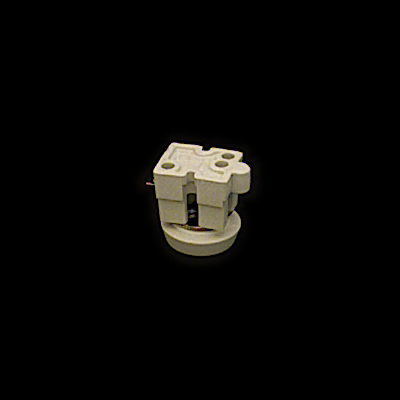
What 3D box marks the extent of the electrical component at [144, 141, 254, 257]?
[{"bbox_3d":[0.000,0.000,0.644,0.066,0.056,0.048,9,34,14],"label":"electrical component"}]
